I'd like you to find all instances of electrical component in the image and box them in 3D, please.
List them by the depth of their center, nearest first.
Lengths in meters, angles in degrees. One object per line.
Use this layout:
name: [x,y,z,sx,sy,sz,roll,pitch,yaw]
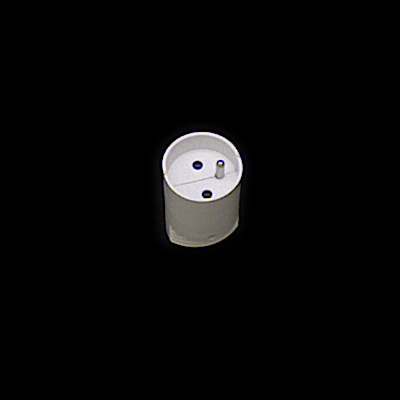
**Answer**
electrical component: [0.000,0.000,0.618,0.043,0.043,0.081,0,-27,-1]
